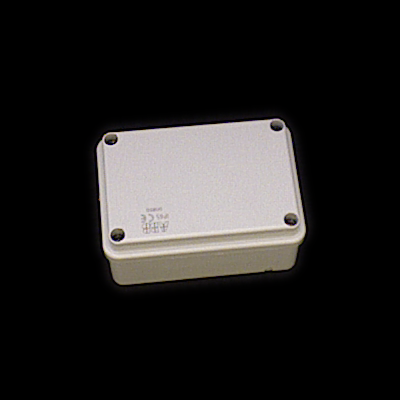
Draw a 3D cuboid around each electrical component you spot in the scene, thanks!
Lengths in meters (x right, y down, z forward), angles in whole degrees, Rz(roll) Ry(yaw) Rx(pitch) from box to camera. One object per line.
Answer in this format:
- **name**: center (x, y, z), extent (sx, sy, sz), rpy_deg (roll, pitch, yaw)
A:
- **electrical component**: center (0.000, 0.000, 0.626), extent (0.113, 0.078, 0.057), rpy_deg (-5, -27, -3)
